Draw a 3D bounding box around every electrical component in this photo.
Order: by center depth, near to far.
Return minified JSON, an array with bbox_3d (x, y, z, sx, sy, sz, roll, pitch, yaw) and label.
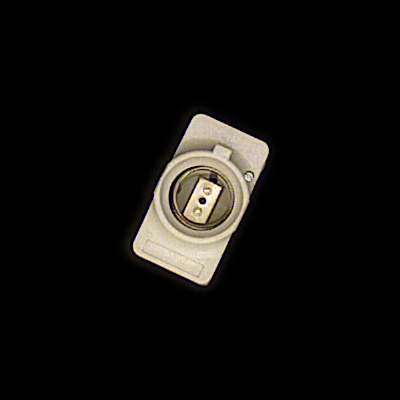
[{"bbox_3d":[0.000,0.000,0.637,0.050,0.090,0.055,24,-5,3],"label":"electrical component"}]
